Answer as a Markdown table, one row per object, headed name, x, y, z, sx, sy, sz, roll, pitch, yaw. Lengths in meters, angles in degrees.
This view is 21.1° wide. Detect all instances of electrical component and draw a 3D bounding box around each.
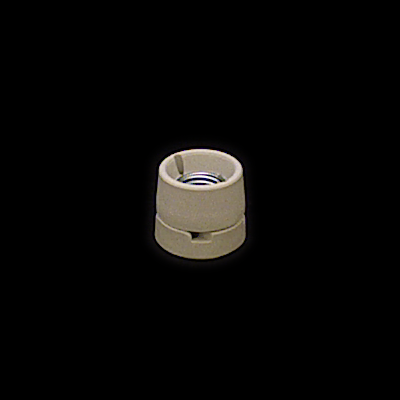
| name | x | y | z | sx | sy | sz | roll | pitch | yaw |
| --- | --- | --- | --- | --- | --- | --- | --- | --- | --- |
| electrical component | 0.000 | 0.000 | 0.639 | 0.055 | 0.047 | 0.055 | 0 | 30 | 0 |
